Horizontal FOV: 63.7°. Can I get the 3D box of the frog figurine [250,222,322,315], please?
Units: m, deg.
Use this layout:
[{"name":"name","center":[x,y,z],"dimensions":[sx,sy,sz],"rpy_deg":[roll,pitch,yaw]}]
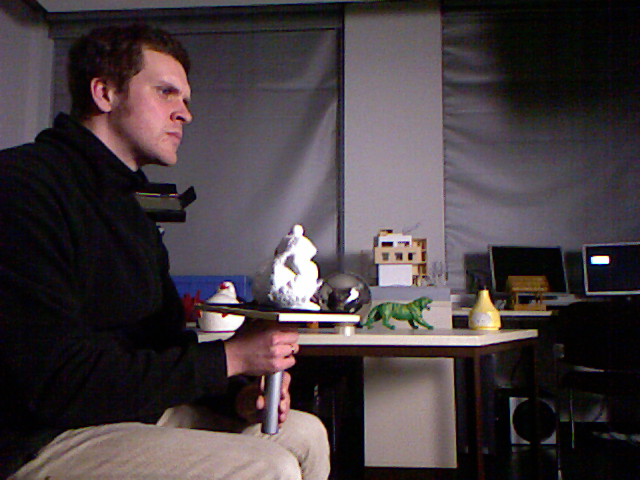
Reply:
[{"name":"frog figurine","center":[-0.058,0.046,0.907],"dimensions":[0.122,0.160,0.137],"rpy_deg":[6,-4,-31]}]
